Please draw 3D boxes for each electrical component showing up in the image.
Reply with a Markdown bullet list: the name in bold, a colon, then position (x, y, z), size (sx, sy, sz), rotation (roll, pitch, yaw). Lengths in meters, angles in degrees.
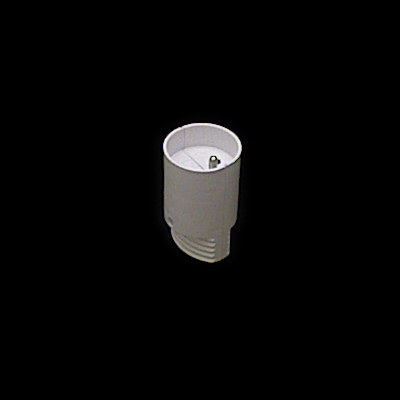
- **electrical component**: position (0.000, 0.000, 0.623), size (0.043, 0.082, 0.042), rotation (0, 43, 0)
